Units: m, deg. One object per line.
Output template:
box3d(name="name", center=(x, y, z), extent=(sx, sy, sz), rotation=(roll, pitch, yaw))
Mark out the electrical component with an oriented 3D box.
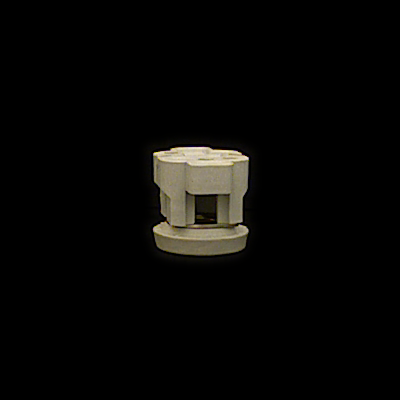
box3d(name="electrical component", center=(0.000, 0.000, 0.652), extent=(0.058, 0.057, 0.077), rotation=(-2, 10, -12))
